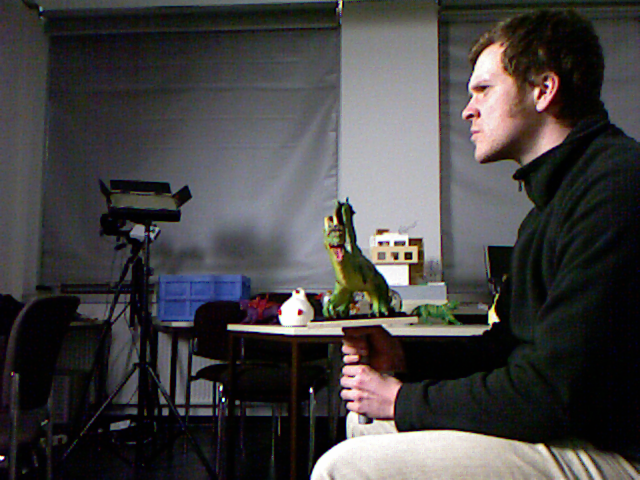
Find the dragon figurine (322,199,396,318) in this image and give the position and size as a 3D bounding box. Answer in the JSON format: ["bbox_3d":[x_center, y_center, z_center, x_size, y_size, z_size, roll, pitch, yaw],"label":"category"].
[{"bbox_3d":[0.078,0.033,1.058,0.122,0.244,0.410,-8,-4,14],"label":"dragon figurine"}]
